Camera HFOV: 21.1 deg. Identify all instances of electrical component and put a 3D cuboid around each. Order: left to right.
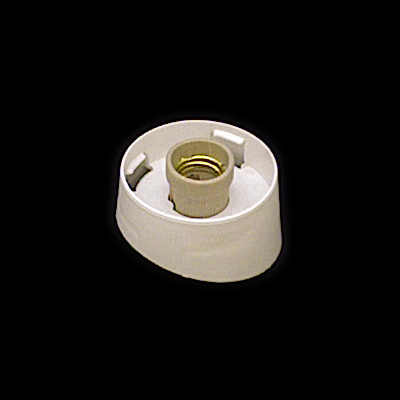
[{"bbox_3d":[0.000,0.000,0.629,0.099,0.064,0.098,1,42,-1],"label":"electrical component"}]
